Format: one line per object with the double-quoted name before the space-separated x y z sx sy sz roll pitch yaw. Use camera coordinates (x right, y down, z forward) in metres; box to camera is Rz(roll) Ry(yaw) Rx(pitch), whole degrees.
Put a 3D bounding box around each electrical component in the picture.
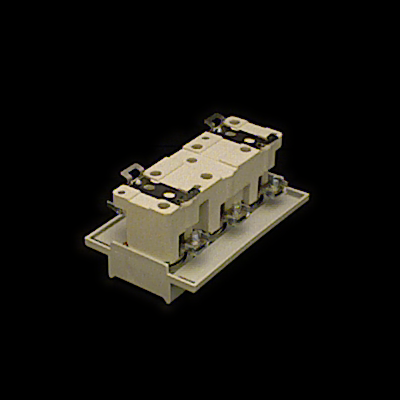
"electrical component" 0.000 0.000 0.640 0.078 0.064 0.121 22 38 29
